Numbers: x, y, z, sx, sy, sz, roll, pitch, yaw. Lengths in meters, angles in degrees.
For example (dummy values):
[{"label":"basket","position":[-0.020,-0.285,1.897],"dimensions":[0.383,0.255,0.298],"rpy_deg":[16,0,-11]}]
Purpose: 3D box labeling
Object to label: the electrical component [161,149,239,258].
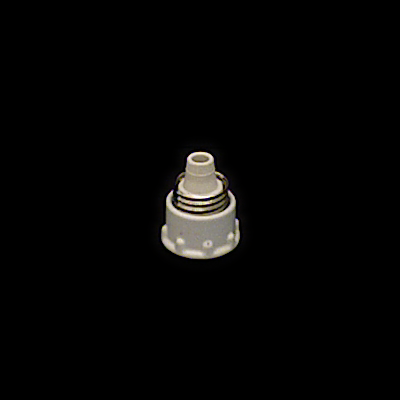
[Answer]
[{"label":"electrical component","position":[0.000,0.000,0.639],"dimensions":[0.048,0.063,0.047],"rpy_deg":[0,33,0]}]
